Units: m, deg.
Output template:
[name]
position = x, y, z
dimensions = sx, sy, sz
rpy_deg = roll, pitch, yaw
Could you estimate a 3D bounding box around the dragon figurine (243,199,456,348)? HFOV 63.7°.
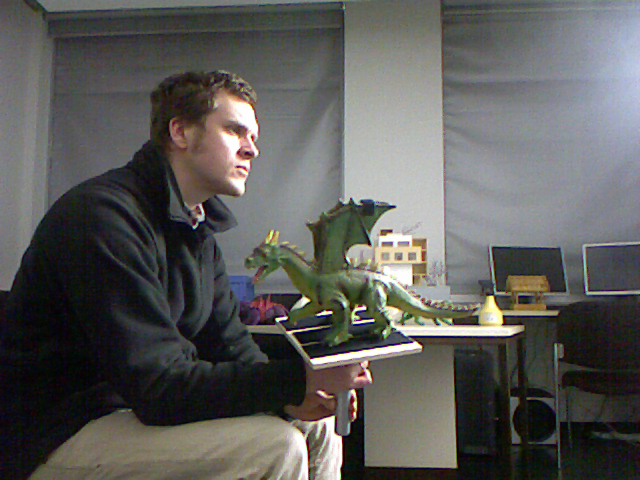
[dragon figurine]
position = 0.066, 0.048, 0.912
dimensions = 0.412, 0.240, 0.124
rpy_deg = -5, 18, -19
